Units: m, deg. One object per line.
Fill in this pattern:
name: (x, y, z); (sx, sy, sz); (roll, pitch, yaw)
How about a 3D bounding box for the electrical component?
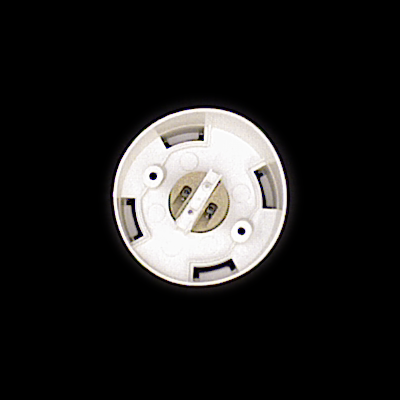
electrical component: (0.000, 0.000, 0.624); (0.099, 0.099, 0.064); (0, -8, 0)
